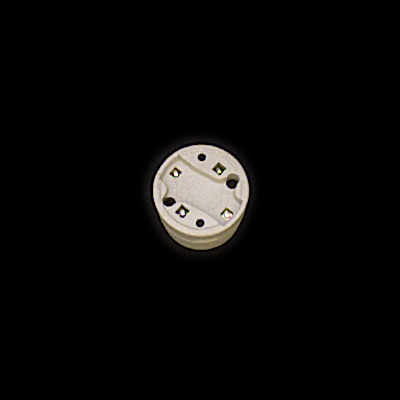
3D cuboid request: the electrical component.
[{"bbox_3d":[0.000,0.000,0.635,0.055,0.056,0.047,0,-17,0],"label":"electrical component"}]
